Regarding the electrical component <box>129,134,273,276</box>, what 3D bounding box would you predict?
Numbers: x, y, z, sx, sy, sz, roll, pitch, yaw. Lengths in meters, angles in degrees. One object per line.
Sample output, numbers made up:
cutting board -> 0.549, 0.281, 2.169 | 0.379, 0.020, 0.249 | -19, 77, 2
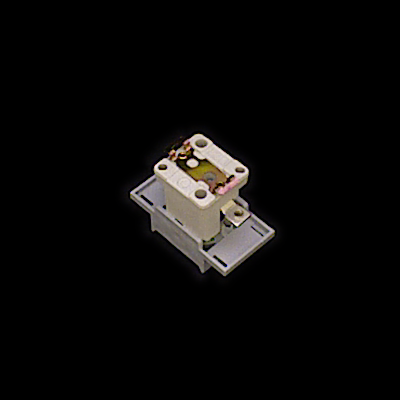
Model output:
electrical component -> 0.000, 0.000, 0.627 | 0.080, 0.064, 0.042 | 38, 62, 25
